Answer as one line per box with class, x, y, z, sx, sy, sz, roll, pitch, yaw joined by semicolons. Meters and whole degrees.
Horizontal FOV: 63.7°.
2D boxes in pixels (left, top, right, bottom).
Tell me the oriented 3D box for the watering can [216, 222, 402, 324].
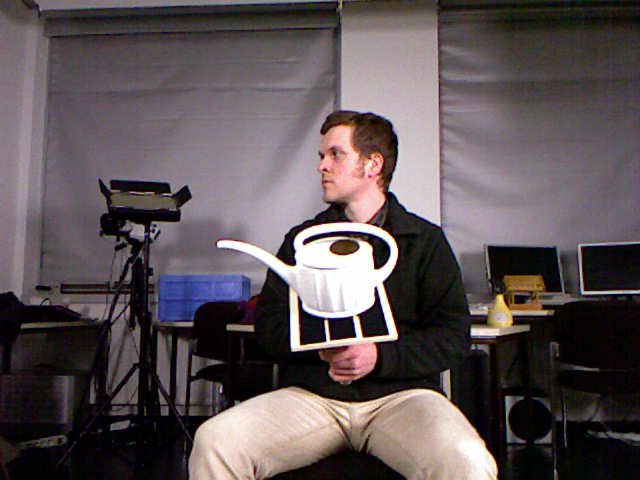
watering can;-0.014;0.063;1.009;0.348;0.220;0.106;-4;34;2
